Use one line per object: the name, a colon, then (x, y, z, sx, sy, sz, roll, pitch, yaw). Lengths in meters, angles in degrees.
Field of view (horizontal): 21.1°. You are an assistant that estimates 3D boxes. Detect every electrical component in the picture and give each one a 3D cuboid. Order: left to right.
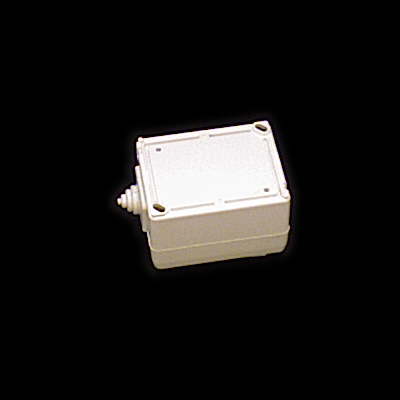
electrical component: (0.000, 0.000, 0.631, 0.096, 0.061, 0.061, -8, -38, -6)
